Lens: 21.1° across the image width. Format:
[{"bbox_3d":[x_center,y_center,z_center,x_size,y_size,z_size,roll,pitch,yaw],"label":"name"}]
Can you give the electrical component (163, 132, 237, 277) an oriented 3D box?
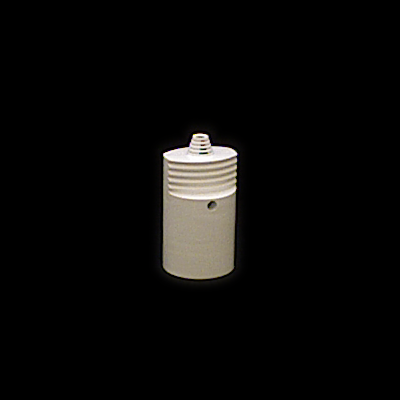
[{"bbox_3d":[0.000,0.000,0.634,0.043,0.082,0.042,1,21,0],"label":"electrical component"}]
